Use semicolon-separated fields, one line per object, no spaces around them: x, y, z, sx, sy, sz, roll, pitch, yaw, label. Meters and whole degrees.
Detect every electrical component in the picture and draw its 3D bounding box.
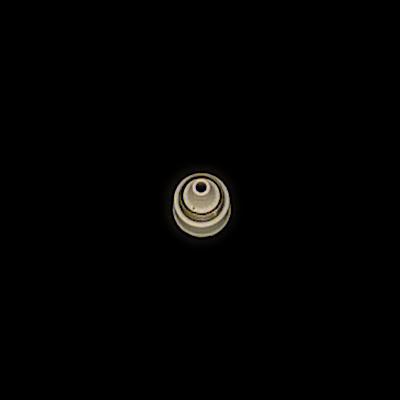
0.000;0.000;0.638;0.035;0.035;0.061;0;-15;1;electrical component
